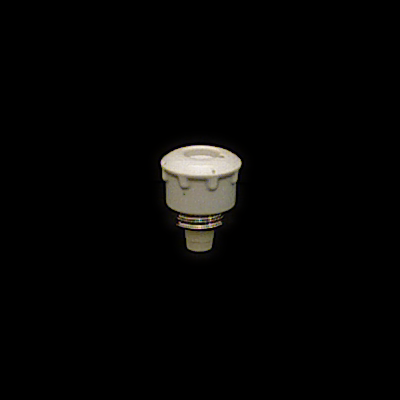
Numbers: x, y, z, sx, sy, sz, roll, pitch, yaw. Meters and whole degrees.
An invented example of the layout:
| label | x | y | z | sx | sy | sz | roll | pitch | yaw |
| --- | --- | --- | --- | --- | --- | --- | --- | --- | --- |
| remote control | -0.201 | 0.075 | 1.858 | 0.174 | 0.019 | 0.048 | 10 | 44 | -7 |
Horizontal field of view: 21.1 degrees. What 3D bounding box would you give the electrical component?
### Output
| label | x | y | z | sx | sy | sz | roll | pitch | yaw |
| --- | --- | --- | --- | --- | --- | --- | --- | --- | --- |
| electrical component | 0.000 | 0.000 | 0.648 | 0.048 | 0.063 | 0.047 | 1 | 22 | 0 |
